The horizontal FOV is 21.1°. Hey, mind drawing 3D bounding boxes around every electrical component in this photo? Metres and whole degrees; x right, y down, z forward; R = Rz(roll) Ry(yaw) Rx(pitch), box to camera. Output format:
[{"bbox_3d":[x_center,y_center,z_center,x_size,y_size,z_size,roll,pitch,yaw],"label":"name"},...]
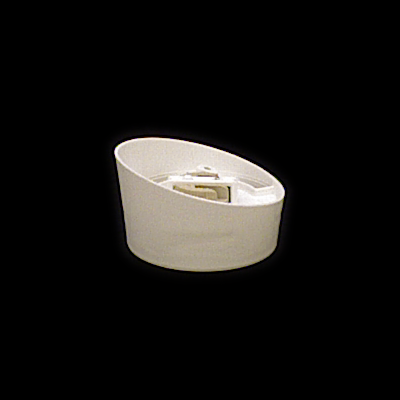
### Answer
[{"bbox_3d":[0.000,0.000,0.637,0.099,0.065,0.097,0,21,0],"label":"electrical component"}]
